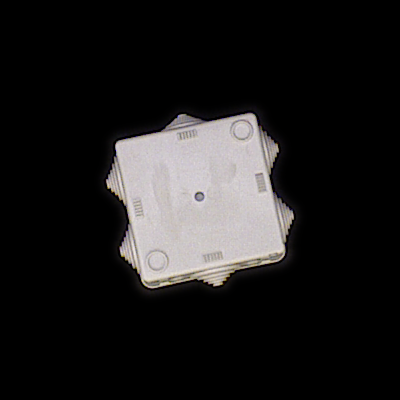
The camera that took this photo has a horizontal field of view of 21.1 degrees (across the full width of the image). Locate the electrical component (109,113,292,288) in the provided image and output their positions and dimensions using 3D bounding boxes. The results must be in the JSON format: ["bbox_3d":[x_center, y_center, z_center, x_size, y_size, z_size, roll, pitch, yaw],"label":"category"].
[{"bbox_3d":[0.000,0.000,0.632,0.100,0.100,0.048,-12,-7,-1],"label":"electrical component"}]
